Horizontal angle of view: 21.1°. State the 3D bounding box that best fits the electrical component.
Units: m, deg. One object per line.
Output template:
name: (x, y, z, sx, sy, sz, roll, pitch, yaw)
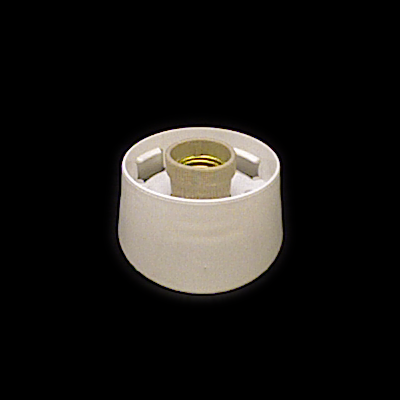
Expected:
electrical component: (0.000, 0.000, 0.634, 0.099, 0.065, 0.097, 1, 32, 0)
